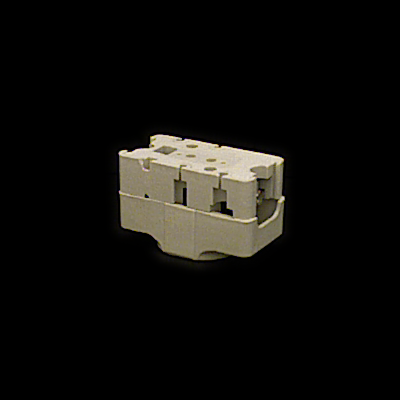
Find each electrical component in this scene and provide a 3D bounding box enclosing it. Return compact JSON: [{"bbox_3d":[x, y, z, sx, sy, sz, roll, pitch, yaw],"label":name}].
[{"bbox_3d":[0.000,0.000,0.646,0.088,0.056,0.050,12,25,27],"label":"electrical component"}]
